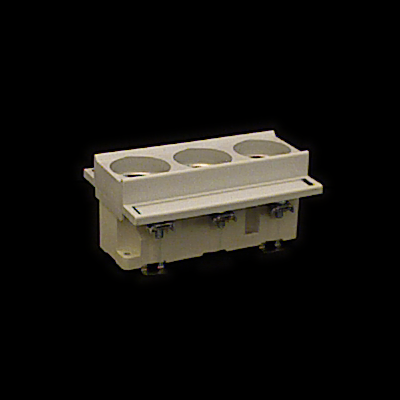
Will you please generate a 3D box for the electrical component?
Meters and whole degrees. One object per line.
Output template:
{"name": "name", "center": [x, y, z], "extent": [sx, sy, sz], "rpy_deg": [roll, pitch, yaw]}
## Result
{"name": "electrical component", "center": [0.000, 0.000, 0.651], "extent": [0.121, 0.064, 0.077], "rpy_deg": [-9, 25, -25]}
